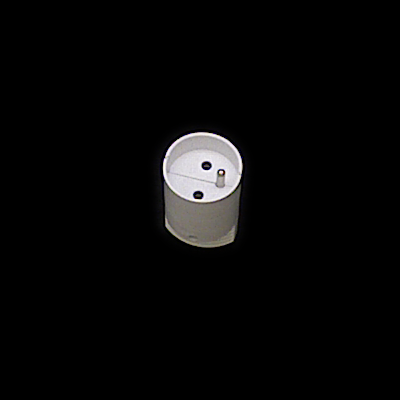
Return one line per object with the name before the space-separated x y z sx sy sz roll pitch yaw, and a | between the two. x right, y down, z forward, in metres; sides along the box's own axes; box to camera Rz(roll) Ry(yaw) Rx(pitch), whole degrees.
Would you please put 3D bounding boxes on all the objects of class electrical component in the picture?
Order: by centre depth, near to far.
electrical component | 0.000 0.000 0.617 0.043 0.043 0.081 0 -27 0
